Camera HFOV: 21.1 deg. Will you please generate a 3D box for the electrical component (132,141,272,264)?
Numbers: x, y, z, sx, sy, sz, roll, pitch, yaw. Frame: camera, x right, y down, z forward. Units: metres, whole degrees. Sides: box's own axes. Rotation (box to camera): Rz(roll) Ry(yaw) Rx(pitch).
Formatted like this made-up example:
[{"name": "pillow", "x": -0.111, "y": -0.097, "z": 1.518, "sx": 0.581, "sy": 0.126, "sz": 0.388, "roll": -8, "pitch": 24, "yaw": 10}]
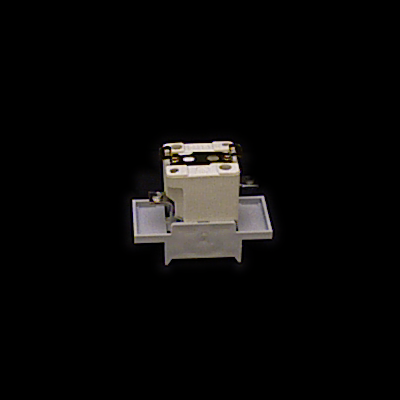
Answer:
[{"name": "electrical component", "x": 0.000, "y": 0.000, "z": 0.633, "sx": 0.081, "sy": 0.064, "sz": 0.041, "roll": -2, "pitch": 32, "yaw": -5}]
